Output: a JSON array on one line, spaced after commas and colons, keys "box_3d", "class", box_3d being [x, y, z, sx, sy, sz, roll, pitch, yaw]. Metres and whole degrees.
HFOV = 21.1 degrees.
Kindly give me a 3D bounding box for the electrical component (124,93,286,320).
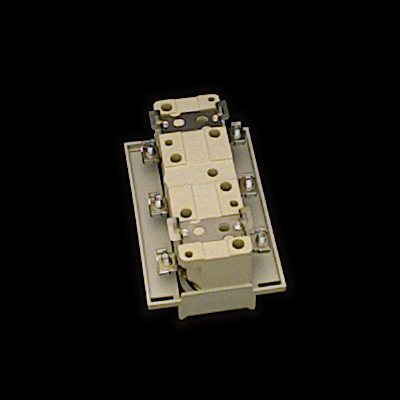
[{"box_3d": [0.000, 0.000, 0.634, 0.079, 0.120, 0.063, -8, -37, -5], "class": "electrical component"}]
